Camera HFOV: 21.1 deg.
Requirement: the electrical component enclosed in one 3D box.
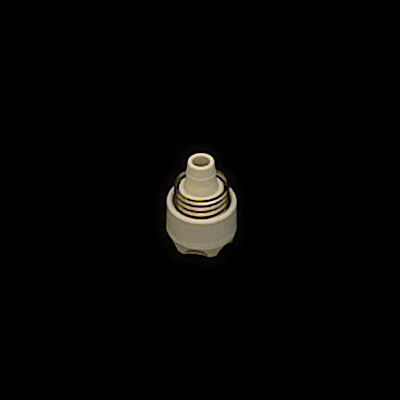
[{"bbox_3d":[0.000,0.000,0.638,0.043,0.062,0.043,0,41,0],"label":"electrical component"}]
